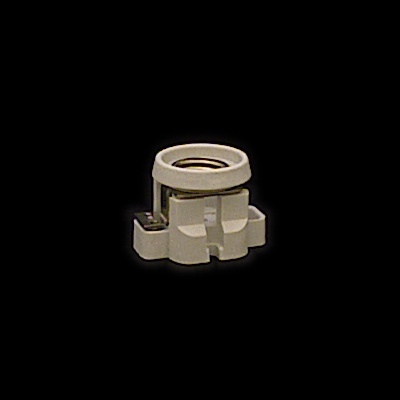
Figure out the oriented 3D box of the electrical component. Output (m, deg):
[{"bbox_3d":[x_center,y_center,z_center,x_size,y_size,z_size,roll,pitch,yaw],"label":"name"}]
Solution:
[{"bbox_3d":[0.000,0.000,0.638,0.079,0.057,0.057,-6,22,-19],"label":"electrical component"}]
